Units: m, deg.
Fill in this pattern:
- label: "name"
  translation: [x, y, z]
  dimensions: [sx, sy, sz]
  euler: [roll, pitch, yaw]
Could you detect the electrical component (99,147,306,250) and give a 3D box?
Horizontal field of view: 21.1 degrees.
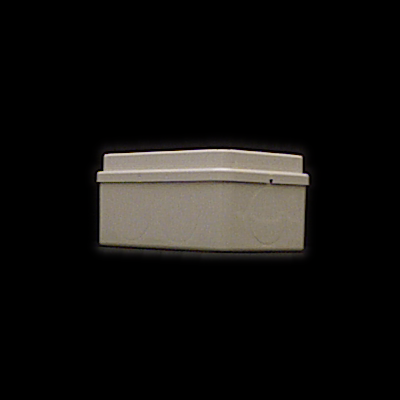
- label: "electrical component"
  translation: [0.000, 0.000, 0.651]
  dimensions: [0.078, 0.057, 0.113]
  euler: [1, 0, -45]
